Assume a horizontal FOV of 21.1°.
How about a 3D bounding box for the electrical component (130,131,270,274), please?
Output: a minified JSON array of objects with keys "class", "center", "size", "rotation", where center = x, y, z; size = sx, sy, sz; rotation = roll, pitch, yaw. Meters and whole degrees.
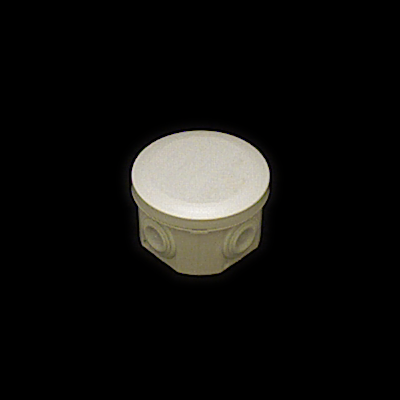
[{"class":"electrical component","center":[0.000,0.000,0.631],"size":[0.080,0.051,0.080],"rotation":[0,42,0]}]
